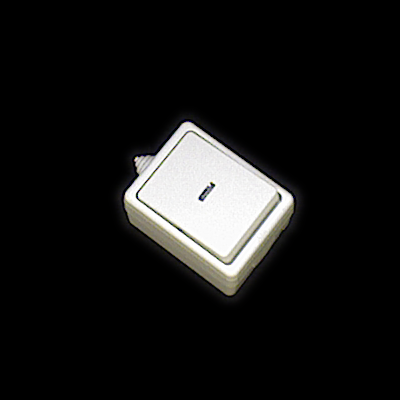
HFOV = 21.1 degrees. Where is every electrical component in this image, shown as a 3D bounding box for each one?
[{"bbox_3d":[0.000,0.000,0.626,0.096,0.062,0.060,36,-14,10],"label":"electrical component"}]
